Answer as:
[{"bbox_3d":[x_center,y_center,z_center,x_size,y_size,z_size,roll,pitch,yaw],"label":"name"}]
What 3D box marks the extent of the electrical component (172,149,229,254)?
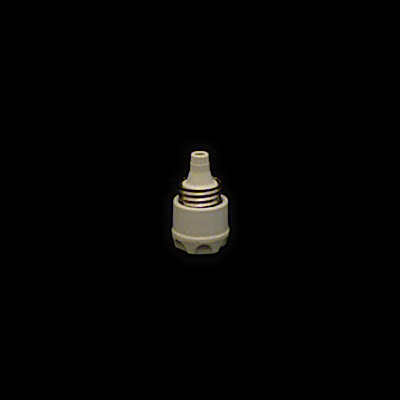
[{"bbox_3d":[0.000,0.000,0.650,0.035,0.062,0.034,-1,21,0],"label":"electrical component"}]
